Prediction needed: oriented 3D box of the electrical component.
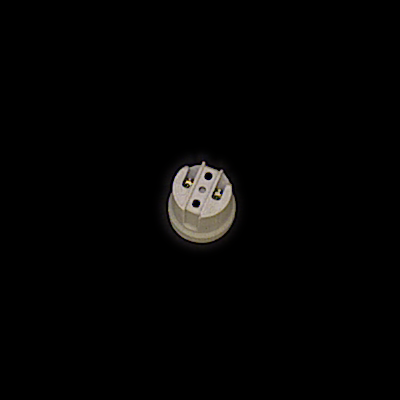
[{"bbox_3d":[0.000,0.000,0.633,0.040,0.040,0.046,0,-16,0],"label":"electrical component"}]
